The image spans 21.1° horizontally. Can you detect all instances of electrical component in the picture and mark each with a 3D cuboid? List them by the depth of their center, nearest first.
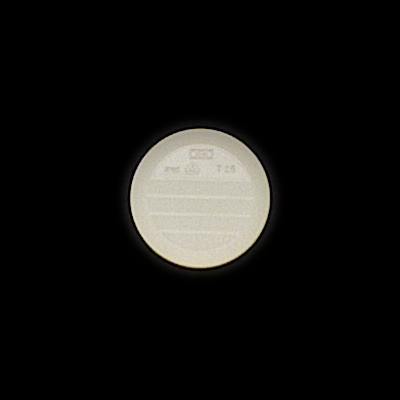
[{"bbox_3d":[0.000,0.000,0.631,0.080,0.080,0.050,0,-6,0],"label":"electrical component"}]
